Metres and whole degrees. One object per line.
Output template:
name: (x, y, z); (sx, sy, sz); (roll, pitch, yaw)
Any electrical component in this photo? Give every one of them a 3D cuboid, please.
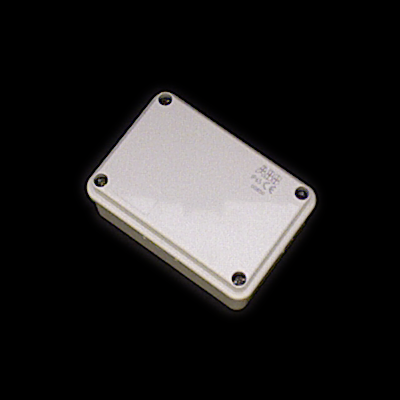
electrical component: (0.000, 0.000, 0.627); (0.113, 0.078, 0.057); (35, -14, 10)
